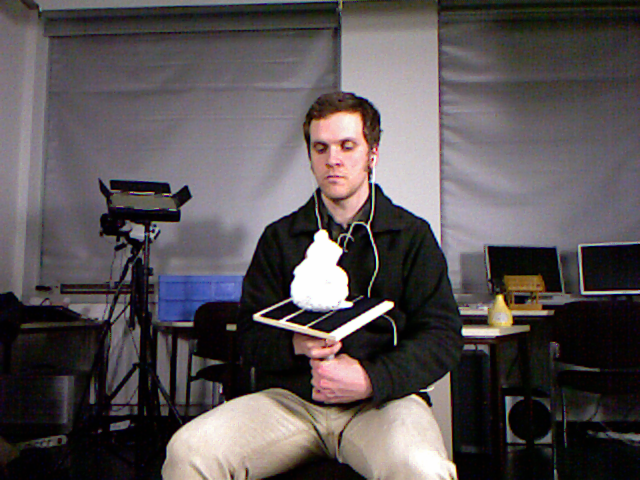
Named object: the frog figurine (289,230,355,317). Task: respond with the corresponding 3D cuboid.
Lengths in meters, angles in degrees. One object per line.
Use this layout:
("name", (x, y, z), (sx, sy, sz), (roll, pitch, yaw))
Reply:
("frog figurine", (-0.001, 0.065, 1.015), (0.124, 0.157, 0.138), (-15, 19, -31))
